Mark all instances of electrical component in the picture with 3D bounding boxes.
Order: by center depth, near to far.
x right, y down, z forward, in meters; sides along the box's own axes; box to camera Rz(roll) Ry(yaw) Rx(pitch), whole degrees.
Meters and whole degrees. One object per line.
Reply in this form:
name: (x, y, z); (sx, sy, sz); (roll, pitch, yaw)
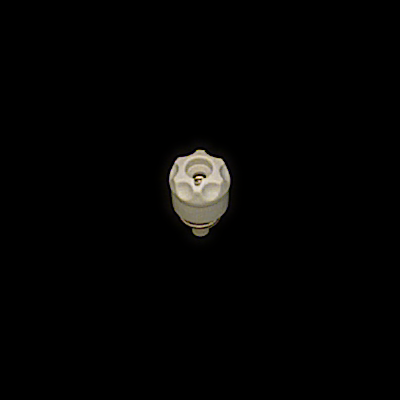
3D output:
electrical component: (0.000, 0.000, 0.634); (0.035, 0.035, 0.061); (0, -37, 0)
